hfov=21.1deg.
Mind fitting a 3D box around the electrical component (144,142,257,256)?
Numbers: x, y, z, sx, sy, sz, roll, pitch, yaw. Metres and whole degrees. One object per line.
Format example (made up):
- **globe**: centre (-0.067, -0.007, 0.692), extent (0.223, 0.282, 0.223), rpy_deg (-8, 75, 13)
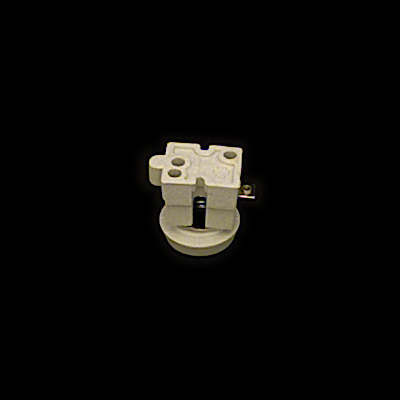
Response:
- **electrical component**: centre (0.000, 0.000, 0.640), extent (0.066, 0.056, 0.048), rpy_deg (4, 42, 2)
